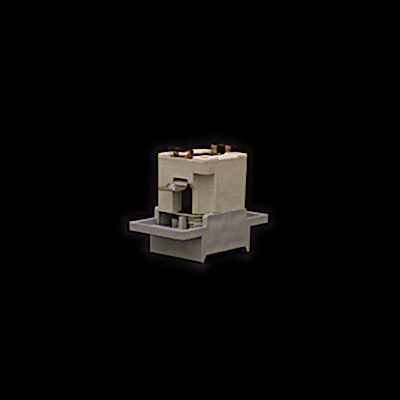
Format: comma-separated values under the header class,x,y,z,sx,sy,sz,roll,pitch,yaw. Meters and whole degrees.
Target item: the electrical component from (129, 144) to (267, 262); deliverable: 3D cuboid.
class,x,y,z,sx,sy,sz,roll,pitch,yaw
electrical component,0.000,0.000,0.645,0.042,0.064,0.081,10,14,39
